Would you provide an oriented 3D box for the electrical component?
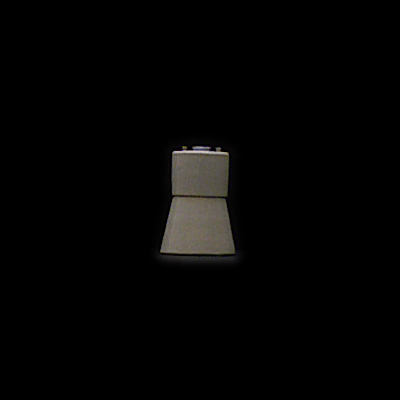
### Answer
[{"bbox_3d":[0.000,0.000,0.648,0.044,0.065,0.044,2,2,0],"label":"electrical component"}]
